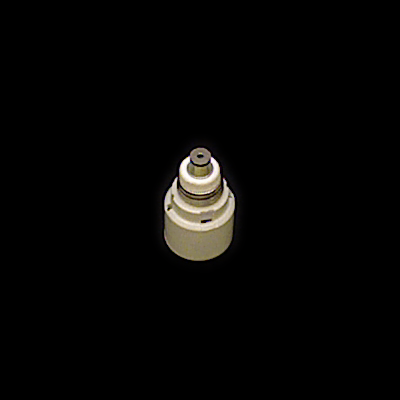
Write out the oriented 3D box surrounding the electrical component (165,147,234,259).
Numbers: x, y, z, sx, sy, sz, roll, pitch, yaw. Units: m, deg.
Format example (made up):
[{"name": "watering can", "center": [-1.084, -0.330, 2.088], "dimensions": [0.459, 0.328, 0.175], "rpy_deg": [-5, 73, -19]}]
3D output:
[{"name": "electrical component", "center": [0.000, 0.000, 0.620], "dimensions": [0.040, 0.040, 0.079], "rpy_deg": [0, -39, -1]}]
